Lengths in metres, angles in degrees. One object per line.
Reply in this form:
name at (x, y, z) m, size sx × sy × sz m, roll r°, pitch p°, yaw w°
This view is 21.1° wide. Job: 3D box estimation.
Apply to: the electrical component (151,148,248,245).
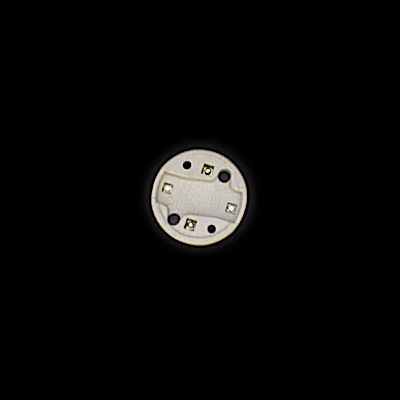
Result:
electrical component at (0.000, 0.000, 0.636) m, size 0.055 × 0.055 × 0.047 m, roll 0°, pitch -7°, yaw 0°
